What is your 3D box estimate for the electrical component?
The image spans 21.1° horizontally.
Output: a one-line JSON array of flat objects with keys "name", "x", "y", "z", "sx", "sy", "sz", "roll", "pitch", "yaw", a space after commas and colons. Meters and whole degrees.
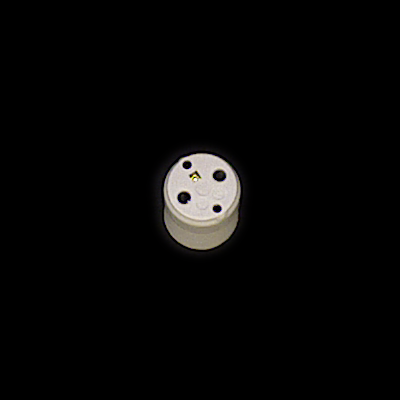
[{"name": "electrical component", "x": 0.000, "y": 0.000, "z": 0.629, "sx": 0.045, "sy": 0.045, "sz": 0.055, "roll": 0, "pitch": -16, "yaw": 0}]
